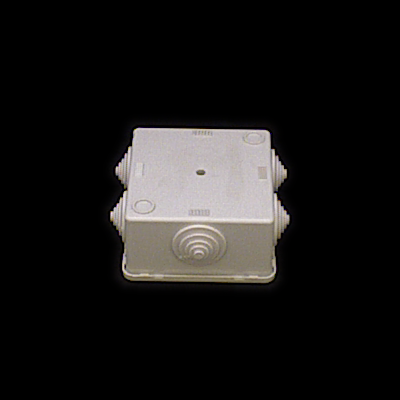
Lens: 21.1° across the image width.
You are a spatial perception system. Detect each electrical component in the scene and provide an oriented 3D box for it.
[{"bbox_3d":[0.000,0.000,0.635,0.100,0.049,0.099,1,42,0],"label":"electrical component"}]
